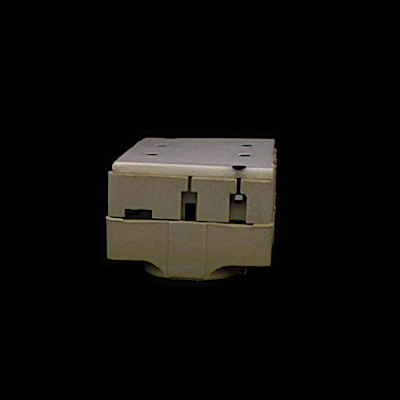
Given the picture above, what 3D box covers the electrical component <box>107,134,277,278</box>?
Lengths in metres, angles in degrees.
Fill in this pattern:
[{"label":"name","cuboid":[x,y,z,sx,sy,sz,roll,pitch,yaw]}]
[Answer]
[{"label":"electrical component","cuboid":[0.000,0.000,0.648,0.089,0.062,0.148,2,10,4]}]
